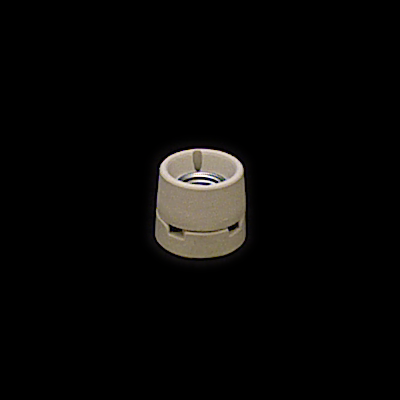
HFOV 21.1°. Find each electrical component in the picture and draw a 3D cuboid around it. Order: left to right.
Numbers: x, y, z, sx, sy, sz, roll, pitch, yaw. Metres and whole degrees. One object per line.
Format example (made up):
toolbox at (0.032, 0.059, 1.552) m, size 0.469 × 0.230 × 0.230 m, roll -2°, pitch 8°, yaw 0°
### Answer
electrical component at (0.000, 0.000, 0.639) m, size 0.055 × 0.047 × 0.055 m, roll 1°, pitch 30°, yaw 0°
